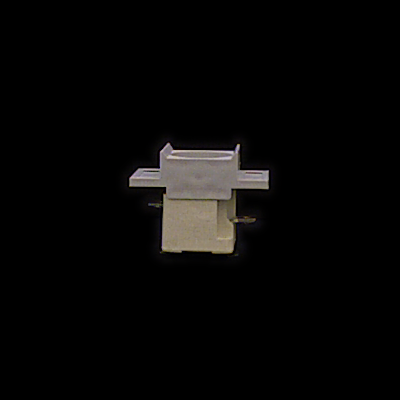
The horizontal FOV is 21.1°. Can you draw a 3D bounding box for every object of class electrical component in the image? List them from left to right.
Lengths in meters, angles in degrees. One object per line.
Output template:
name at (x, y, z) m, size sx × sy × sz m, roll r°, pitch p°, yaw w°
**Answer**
electrical component at (0.000, 0.000, 0.644) m, size 0.081 × 0.064 × 0.042 m, roll 2°, pitch 10°, yaw 4°
